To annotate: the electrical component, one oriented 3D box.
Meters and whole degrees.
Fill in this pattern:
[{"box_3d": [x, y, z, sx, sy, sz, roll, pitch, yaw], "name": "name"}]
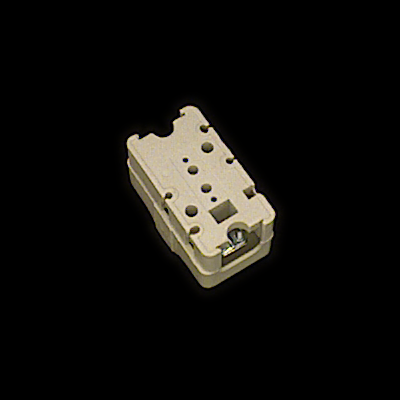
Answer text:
[{"box_3d": [0.000, 0.000, 0.636, 0.050, 0.089, 0.055, -30, -22, -15], "name": "electrical component"}]
